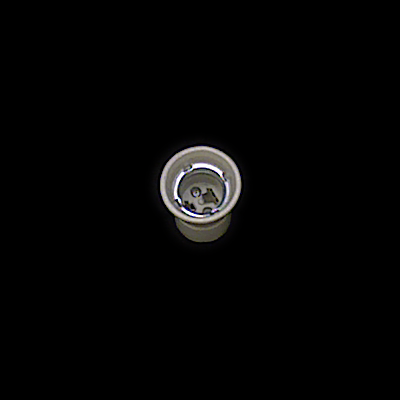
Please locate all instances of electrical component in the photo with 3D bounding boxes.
[{"bbox_3d":[0.000,0.000,0.624,0.044,0.044,0.065,0,-17,1],"label":"electrical component"}]
